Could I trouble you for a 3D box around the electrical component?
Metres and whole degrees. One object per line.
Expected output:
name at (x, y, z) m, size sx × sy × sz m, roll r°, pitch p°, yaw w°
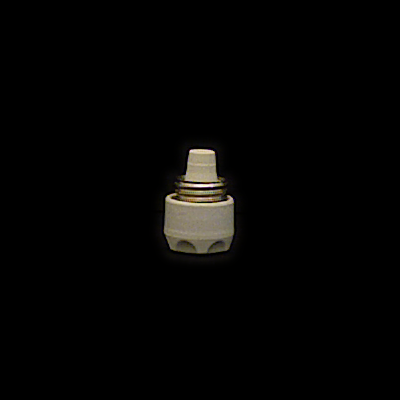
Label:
electrical component at (0.000, 0.000, 0.651) m, size 0.043 × 0.062 × 0.043 m, roll 2°, pitch 11°, yaw 0°
